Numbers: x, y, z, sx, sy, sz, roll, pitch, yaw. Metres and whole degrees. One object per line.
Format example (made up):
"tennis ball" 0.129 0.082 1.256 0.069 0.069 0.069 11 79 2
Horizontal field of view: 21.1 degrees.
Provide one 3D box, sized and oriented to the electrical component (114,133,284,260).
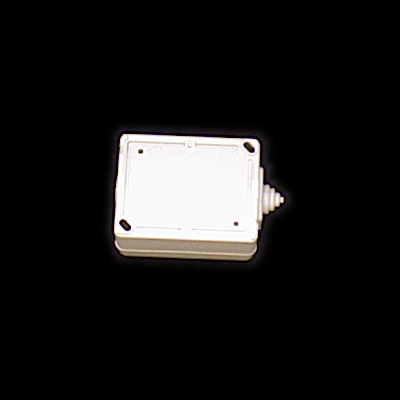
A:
"electrical component" 0.000 0.000 0.627 0.096 0.062 0.060 2 -17 0
